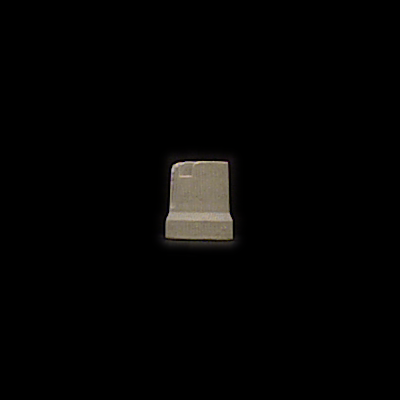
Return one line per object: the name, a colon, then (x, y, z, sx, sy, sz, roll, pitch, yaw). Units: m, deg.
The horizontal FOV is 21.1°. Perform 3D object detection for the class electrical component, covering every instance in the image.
electrical component: (0.000, 0.000, 0.650, 0.040, 0.046, 0.040, 1, 1, 0)
